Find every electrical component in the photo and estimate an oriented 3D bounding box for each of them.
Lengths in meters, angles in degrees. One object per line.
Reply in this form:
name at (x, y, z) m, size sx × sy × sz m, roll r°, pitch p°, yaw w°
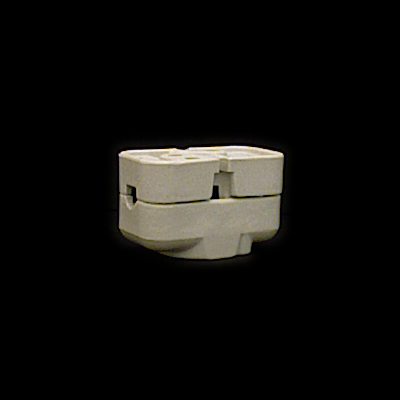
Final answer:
electrical component at (0.000, 0.000, 0.650) m, size 0.096 × 0.060 × 0.053 m, roll -4°, pitch 13°, yaw -29°
